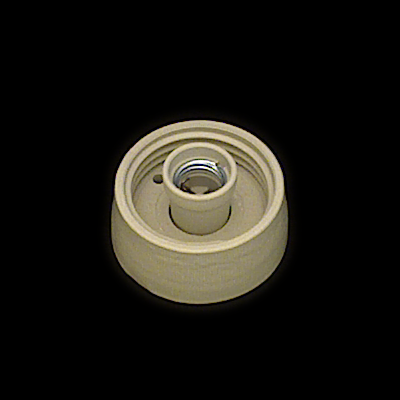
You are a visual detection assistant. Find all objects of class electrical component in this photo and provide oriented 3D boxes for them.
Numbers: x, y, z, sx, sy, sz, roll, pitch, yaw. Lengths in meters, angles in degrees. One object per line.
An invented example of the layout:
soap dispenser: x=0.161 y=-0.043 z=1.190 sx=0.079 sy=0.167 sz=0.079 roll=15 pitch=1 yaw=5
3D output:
electrical component: x=0.000 y=0.000 z=0.634 sx=0.108 sy=0.107 sz=0.060 roll=0 pitch=-37 yaw=-1
